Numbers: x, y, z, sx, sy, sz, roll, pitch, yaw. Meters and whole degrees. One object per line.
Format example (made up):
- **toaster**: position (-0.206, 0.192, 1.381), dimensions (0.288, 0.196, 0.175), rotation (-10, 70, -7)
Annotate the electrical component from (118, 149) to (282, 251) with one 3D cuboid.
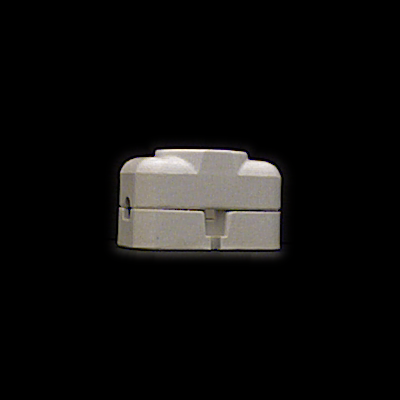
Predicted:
- **electrical component**: position (0.000, 0.000, 0.658), dimensions (0.096, 0.059, 0.053), rotation (1, 2, -24)
